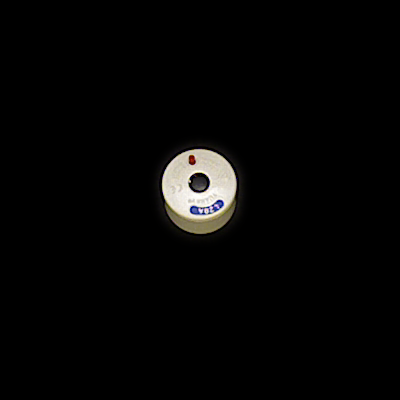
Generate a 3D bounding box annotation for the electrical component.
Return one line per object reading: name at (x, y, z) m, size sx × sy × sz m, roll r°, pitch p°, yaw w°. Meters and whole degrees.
electrical component at (0.000, 0.000, 0.618) m, size 0.040 × 0.040 × 0.078 m, roll 0°, pitch -17°, yaw 0°
